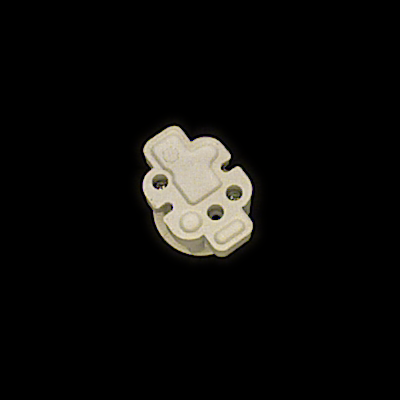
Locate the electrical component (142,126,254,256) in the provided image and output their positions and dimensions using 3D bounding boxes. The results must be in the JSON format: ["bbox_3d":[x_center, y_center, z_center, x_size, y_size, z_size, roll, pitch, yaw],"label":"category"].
[{"bbox_3d":[0.000,0.000,0.635,0.058,0.078,0.056,-36,-14,-9],"label":"electrical component"}]
